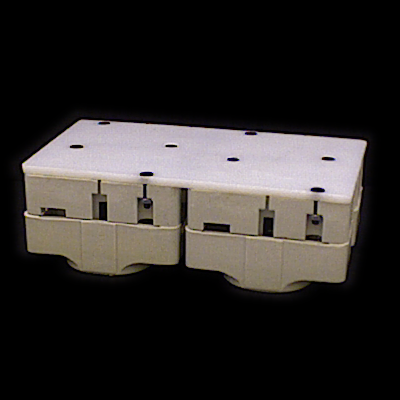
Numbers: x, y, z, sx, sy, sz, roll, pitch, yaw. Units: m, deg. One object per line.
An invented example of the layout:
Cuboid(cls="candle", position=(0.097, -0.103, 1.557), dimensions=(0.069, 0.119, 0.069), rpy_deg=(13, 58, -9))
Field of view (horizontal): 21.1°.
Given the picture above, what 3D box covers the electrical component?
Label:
Cuboid(cls="electrical component", position=(0.000, 0.000, 0.638), dimensions=(0.186, 0.061, 0.104), rpy_deg=(5, 21, 11))
